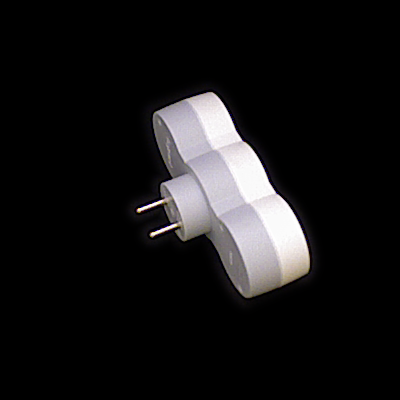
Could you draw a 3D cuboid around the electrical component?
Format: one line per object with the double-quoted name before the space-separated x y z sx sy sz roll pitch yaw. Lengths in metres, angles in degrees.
"electrical component" 0.000 0.000 0.630 0.074 0.138 0.052 -22 -33 -14
